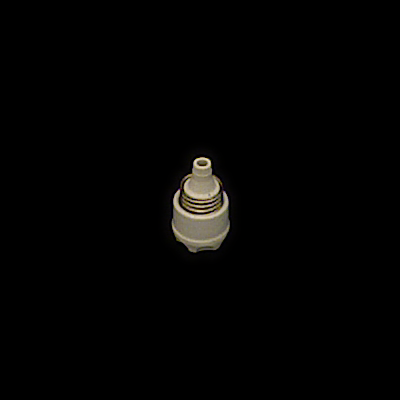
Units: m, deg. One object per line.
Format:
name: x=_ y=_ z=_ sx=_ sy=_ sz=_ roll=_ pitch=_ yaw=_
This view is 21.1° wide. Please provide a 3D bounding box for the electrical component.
electrical component: x=0.000 y=0.000 z=0.644 sx=0.035 sy=0.062 sz=0.034 roll=1 pitch=43 yaw=-1
